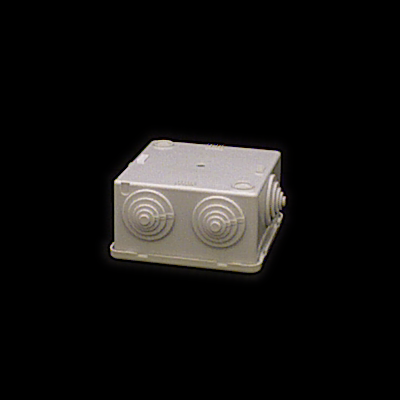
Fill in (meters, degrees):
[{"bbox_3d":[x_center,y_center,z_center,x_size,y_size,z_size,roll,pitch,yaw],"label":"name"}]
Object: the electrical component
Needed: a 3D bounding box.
[{"bbox_3d":[0.000,0.000,0.640,0.099,0.049,0.099,6,21,12],"label":"electrical component"}]
